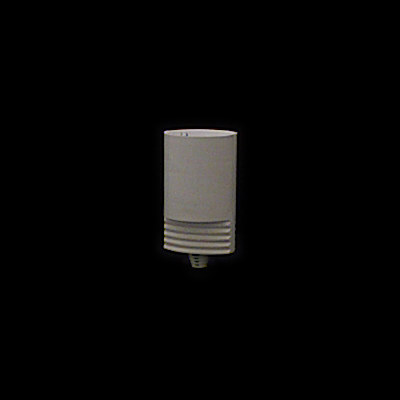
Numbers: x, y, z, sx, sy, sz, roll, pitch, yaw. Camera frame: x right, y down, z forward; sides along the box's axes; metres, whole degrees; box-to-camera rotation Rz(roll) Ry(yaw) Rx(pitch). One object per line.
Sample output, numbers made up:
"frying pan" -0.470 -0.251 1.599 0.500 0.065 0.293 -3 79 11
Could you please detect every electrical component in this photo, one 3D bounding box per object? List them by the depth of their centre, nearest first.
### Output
"electrical component" 0.000 0.000 0.640 0.043 0.081 0.043 1 10 0
